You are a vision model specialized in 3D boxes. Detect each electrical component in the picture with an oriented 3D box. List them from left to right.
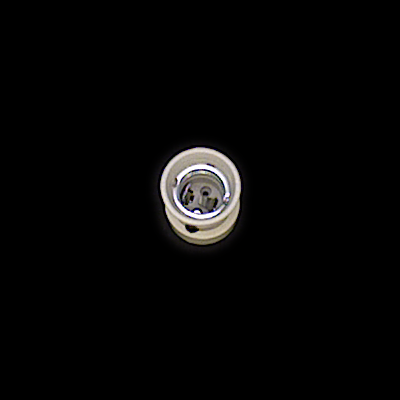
[{"bbox_3d":[0.000,0.000,0.628,0.045,0.045,0.055,0,-17,1],"label":"electrical component"}]
